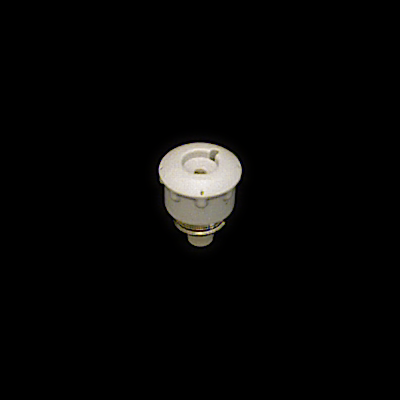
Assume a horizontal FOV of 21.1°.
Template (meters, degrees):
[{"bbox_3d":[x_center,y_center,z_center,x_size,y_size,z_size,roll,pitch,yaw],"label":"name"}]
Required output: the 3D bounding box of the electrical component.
[{"bbox_3d":[0.000,0.000,0.639,0.048,0.062,0.047,1,43,0],"label":"electrical component"}]
